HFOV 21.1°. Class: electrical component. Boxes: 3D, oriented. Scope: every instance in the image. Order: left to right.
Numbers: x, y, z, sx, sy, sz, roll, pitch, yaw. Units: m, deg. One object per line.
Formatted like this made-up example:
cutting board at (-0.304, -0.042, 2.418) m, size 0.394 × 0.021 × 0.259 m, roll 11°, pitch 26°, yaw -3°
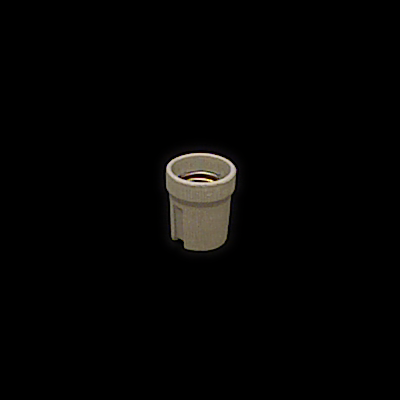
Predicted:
electrical component at (0.000, 0.000, 0.637) m, size 0.040 × 0.047 × 0.039 m, roll 1°, pitch 32°, yaw 0°
